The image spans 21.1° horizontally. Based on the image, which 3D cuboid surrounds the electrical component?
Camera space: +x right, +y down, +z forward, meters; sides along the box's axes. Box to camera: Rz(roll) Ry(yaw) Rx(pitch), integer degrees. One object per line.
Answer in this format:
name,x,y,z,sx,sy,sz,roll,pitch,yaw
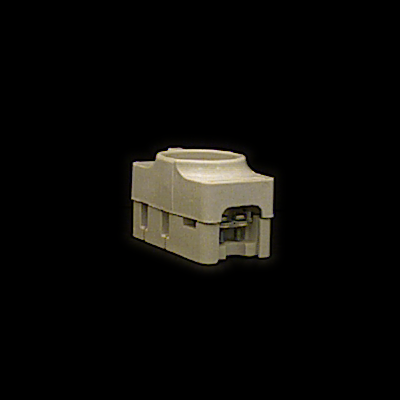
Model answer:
electrical component,0.000,0.000,0.652,0.050,0.056,0.088,-6,14,-33
